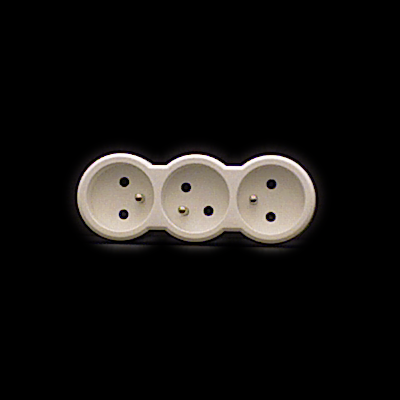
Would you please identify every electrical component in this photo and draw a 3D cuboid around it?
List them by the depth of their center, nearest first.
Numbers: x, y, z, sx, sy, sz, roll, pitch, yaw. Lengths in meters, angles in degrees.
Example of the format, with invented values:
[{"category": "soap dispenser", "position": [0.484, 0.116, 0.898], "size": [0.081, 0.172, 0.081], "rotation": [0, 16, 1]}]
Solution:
[{"category": "electrical component", "position": [0.000, 0.000, 0.650], "size": [0.138, 0.052, 0.074], "rotation": [1, -2, 4]}]
